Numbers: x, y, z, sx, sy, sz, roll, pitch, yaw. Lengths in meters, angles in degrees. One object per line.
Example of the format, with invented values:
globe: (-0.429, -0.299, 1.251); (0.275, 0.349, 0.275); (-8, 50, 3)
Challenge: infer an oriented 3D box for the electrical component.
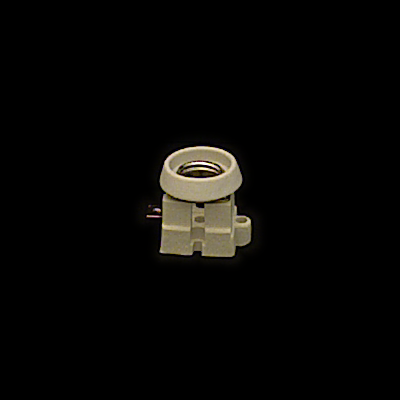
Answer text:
electrical component: (0.000, 0.000, 0.642); (0.066, 0.056, 0.048); (2, 30, 2)
